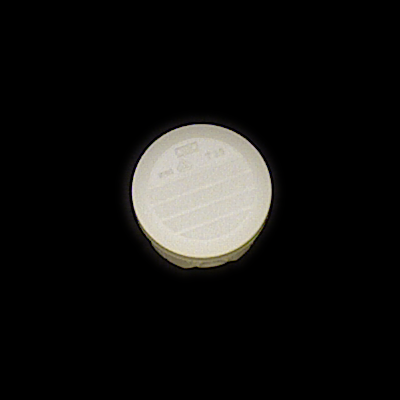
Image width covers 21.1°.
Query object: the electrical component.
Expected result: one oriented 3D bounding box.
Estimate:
[{"bbox_3d":[0.000,0.000,0.630,0.080,0.080,0.050,0,-17,0],"label":"electrical component"}]
